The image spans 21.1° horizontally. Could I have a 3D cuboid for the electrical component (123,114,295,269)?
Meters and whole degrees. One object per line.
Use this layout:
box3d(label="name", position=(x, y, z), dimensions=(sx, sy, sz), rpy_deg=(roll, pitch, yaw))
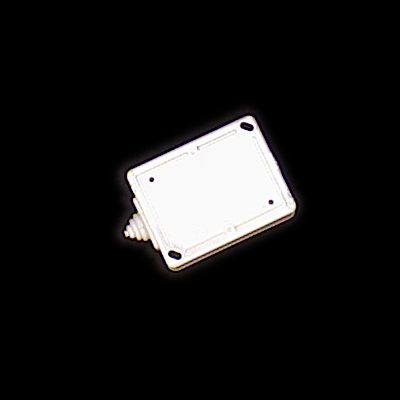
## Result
box3d(label="electrical component", position=(0.000, 0.000, 0.629), dimensions=(0.096, 0.062, 0.061), rpy_deg=(-25, -6, -2))
